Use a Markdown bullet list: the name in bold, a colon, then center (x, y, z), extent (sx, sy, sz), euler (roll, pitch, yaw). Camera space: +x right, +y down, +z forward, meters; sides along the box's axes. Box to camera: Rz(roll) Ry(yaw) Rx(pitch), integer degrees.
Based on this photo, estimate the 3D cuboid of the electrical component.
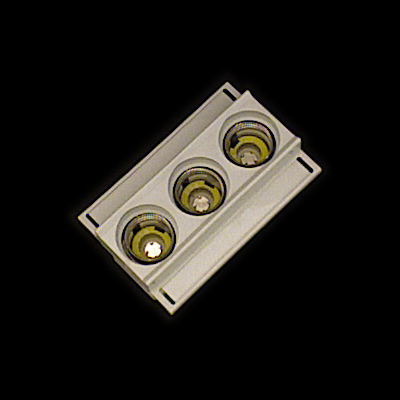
- **electrical component**: center (0.000, 0.000, 0.637), extent (0.122, 0.078, 0.063), euler (-43, -14, -11)
